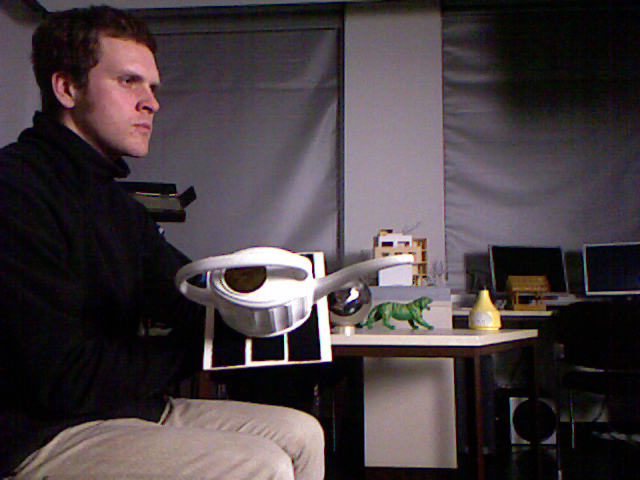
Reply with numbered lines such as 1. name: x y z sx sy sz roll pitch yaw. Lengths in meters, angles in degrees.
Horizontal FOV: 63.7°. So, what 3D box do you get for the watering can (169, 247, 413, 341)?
1. watering can: -0.044 0.075 0.783 0.349 0.106 0.220 -2 -29 0
